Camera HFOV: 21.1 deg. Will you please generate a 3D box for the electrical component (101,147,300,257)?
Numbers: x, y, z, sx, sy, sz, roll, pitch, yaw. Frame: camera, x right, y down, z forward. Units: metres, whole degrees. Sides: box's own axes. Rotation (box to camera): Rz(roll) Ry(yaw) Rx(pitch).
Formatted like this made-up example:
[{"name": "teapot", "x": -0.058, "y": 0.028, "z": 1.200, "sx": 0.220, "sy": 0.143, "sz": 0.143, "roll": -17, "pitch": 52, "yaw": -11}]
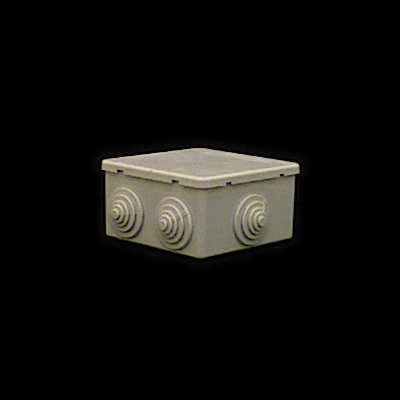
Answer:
[{"name": "electrical component", "x": 0.000, "y": 0.000, "z": 0.653, "sx": 0.098, "sy": 0.049, "sz": 0.100, "roll": 12, "pitch": 15, "yaw": 43}]
